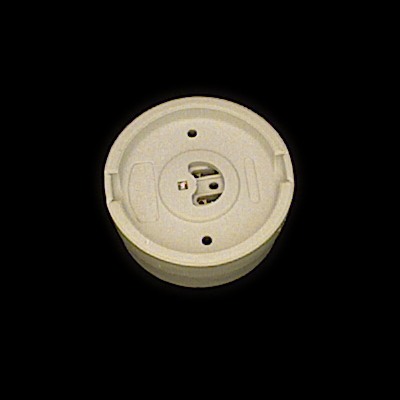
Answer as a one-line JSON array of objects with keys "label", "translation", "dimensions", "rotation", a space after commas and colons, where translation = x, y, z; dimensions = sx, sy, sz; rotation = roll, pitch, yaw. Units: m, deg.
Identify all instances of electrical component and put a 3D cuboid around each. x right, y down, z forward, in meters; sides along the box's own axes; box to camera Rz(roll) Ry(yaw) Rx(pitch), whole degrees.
[{"label": "electrical component", "translation": [0.000, 0.000, 0.632], "dimensions": [0.108, 0.108, 0.060], "rotation": [0, -27, -1]}]
